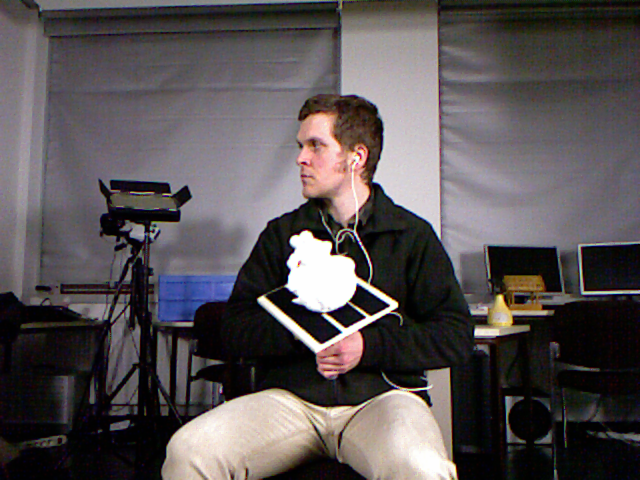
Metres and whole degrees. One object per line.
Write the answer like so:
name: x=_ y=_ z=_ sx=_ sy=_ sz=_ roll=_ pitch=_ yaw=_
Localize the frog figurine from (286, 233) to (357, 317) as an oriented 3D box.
frog figurine: x=0.002 y=0.062 z=0.986 sx=0.138 sy=0.156 sz=0.125 roll=-11 pitch=36 yaw=-6
